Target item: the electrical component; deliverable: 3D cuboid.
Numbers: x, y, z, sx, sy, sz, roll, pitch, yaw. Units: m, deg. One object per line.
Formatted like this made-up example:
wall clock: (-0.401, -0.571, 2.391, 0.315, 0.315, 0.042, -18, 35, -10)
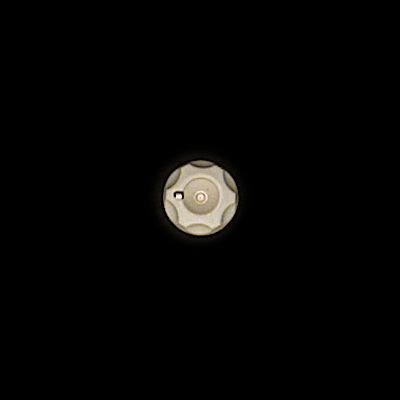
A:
electrical component: (0.000, 0.000, 0.635, 0.043, 0.043, 0.062, 0, -6, 0)
